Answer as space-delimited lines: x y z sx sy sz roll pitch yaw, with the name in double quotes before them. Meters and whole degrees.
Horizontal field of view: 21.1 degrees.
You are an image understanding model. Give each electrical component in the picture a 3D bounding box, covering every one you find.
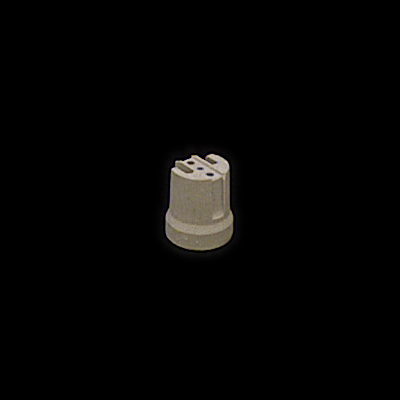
"electrical component" 0.000 0.000 0.639 0.040 0.046 0.040 1 32 -1
